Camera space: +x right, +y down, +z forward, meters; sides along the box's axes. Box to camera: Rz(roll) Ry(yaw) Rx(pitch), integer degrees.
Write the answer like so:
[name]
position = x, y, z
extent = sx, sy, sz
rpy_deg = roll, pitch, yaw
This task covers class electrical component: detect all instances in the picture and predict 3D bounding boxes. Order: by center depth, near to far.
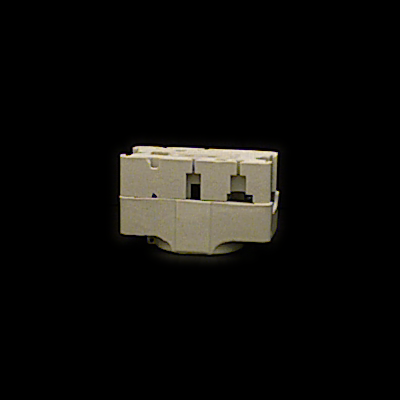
[electrical component]
position = 0.000, 0.000, 0.650
extent = 0.089, 0.056, 0.050
rpy_deg = 2, 12, 8
